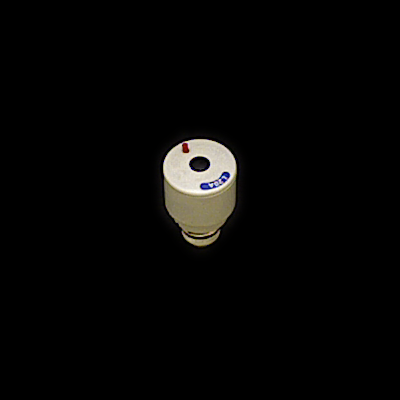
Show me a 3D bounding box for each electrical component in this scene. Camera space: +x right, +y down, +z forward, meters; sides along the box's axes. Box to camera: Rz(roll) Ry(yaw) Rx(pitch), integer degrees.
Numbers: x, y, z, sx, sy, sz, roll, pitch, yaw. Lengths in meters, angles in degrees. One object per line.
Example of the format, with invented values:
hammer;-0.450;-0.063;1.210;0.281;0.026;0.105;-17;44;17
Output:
electrical component;0.000;0.000;0.622;0.040;0.040;0.079;0;-38;0
